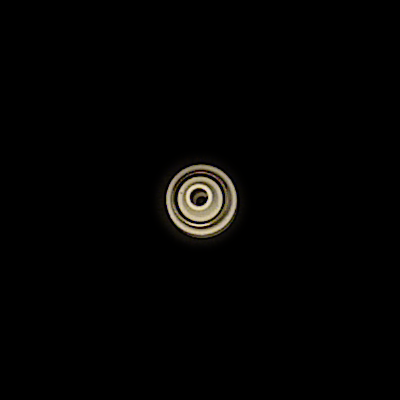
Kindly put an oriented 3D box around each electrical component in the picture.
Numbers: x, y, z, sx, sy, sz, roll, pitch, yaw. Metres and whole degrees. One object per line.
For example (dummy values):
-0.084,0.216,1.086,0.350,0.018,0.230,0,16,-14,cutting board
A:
0.000,0.000,0.635,0.043,0.043,0.062,0,-4,2,electrical component
